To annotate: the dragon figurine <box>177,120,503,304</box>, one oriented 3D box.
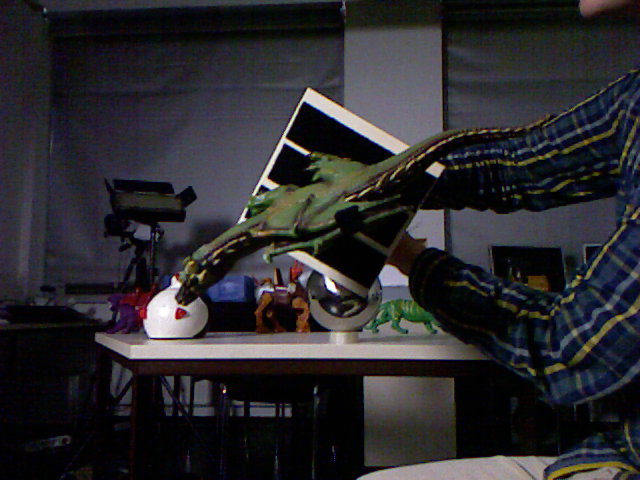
[{"bbox_3d":[0.020,-0.042,0.558,0.410,0.122,0.246,-27,7,11],"label":"dragon figurine"}]
